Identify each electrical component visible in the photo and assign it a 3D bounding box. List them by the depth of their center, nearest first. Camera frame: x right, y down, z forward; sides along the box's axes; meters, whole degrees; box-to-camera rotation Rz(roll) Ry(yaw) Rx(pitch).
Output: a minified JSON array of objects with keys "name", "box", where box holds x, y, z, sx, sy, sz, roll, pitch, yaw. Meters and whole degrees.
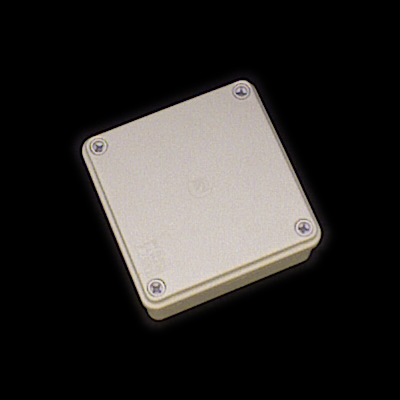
[{"name":"electrical component","box":[0.000,0.000,0.630,0.109,0.109,0.056,-22,-16,-7]}]
